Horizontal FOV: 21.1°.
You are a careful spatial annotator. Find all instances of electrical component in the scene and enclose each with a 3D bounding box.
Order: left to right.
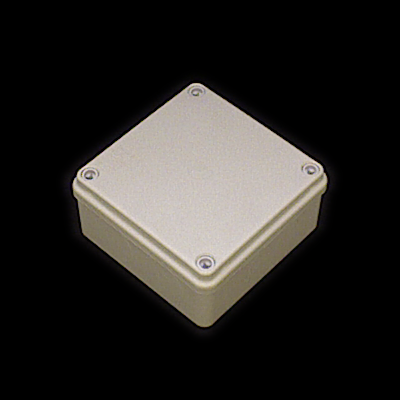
[{"bbox_3d":[0.000,0.000,0.630,0.108,0.056,0.108,36,60,24],"label":"electrical component"}]
